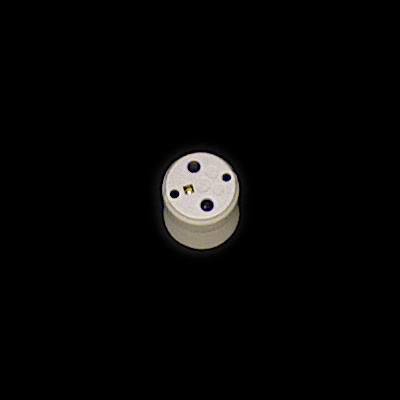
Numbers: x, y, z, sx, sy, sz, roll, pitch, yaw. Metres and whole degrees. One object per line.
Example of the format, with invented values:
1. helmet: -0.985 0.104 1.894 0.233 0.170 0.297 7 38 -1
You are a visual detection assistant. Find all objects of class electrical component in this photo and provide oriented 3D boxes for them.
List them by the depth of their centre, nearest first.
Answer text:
1. electrical component: 0.000 0.000 0.629 0.045 0.045 0.055 0 -17 0
